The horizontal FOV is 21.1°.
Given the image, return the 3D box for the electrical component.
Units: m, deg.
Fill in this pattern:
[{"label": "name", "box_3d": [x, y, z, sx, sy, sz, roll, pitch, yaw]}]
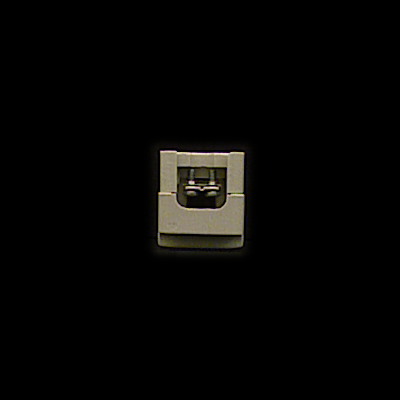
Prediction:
[{"label": "electrical component", "box_3d": [0.000, 0.000, 0.656, 0.050, 0.056, 0.089, 1, 0, -1]}]
